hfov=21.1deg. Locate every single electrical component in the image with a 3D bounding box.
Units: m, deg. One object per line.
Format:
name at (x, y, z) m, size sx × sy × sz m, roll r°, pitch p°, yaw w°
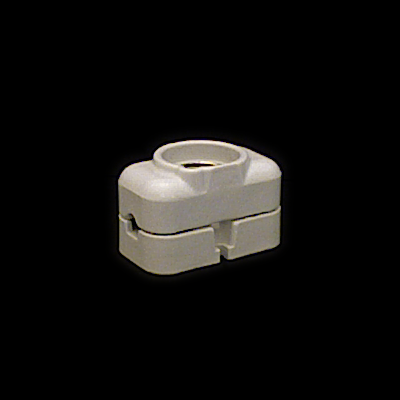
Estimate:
electrical component at (0.000, 0.000, 0.644) m, size 0.095 × 0.060 × 0.053 m, roll -13°, pitch 25°, yaw -31°
